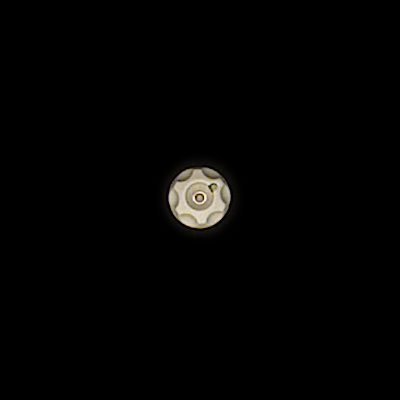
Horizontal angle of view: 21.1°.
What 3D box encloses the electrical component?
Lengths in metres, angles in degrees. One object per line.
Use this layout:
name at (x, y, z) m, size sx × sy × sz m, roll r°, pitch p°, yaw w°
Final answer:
electrical component at (0.000, 0.000, 0.635) m, size 0.035 × 0.035 × 0.061 m, roll 0°, pitch -5°, yaw 0°
